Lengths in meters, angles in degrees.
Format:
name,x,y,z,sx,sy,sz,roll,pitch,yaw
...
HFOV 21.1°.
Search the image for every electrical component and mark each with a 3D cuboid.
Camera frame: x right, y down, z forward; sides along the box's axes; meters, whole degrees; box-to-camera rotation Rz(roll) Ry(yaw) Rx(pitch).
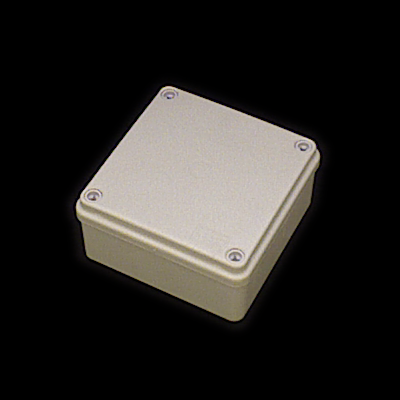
name,x,y,z,sx,sy,sz,roll,pitch,yaw
electrical component,0.000,0.000,0.631,0.108,0.108,0.056,22,-35,16
